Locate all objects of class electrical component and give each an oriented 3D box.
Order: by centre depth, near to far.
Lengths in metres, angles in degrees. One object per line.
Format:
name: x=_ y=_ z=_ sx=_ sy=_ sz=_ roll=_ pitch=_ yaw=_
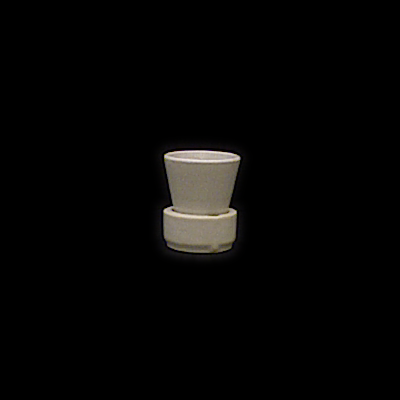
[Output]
electrical component: x=0.000 y=0.000 z=0.647 sx=0.045 sy=0.055 sz=0.044 roll=2 pitch=11 yaw=0
